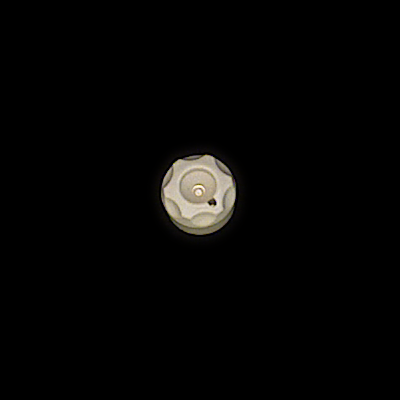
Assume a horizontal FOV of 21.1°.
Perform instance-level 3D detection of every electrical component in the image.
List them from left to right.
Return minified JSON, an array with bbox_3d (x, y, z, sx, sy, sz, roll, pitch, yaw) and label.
[{"bbox_3d":[0.000,0.000,0.634,0.043,0.043,0.061,0,-16,1],"label":"electrical component"}]
